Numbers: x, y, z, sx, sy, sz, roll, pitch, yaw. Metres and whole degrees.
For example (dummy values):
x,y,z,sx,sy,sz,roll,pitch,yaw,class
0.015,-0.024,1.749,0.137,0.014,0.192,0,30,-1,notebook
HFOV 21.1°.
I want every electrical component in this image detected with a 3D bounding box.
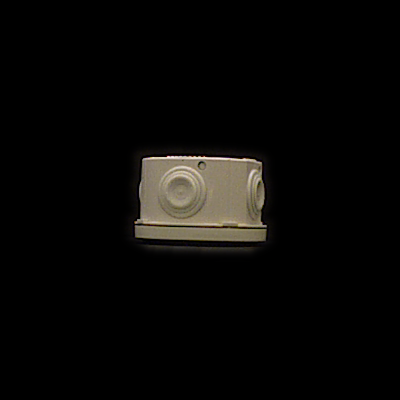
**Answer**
x,y,z,sx,sy,sz,roll,pitch,yaw,class
0.000,0.000,0.651,0.080,0.051,0.080,2,0,0,electrical component
